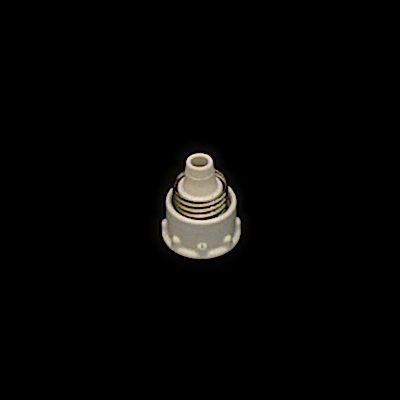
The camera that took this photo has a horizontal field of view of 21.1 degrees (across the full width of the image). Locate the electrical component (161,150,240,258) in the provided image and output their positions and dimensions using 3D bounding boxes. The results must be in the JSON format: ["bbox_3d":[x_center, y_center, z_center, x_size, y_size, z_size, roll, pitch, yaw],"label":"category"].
[{"bbox_3d":[0.000,0.000,0.637,0.048,0.062,0.047,0,42,1],"label":"electrical component"}]
